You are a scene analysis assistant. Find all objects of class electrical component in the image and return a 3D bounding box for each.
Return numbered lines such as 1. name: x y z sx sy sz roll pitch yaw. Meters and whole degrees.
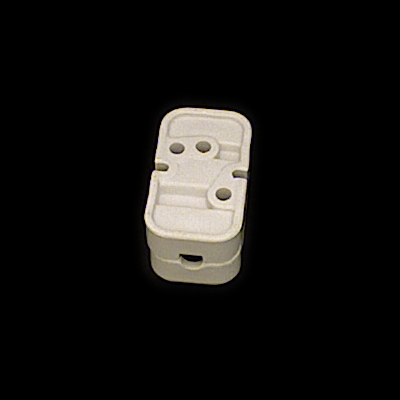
1. electrical component: 0.000 0.000 0.635 0.053 0.095 0.059 5 -36 4
